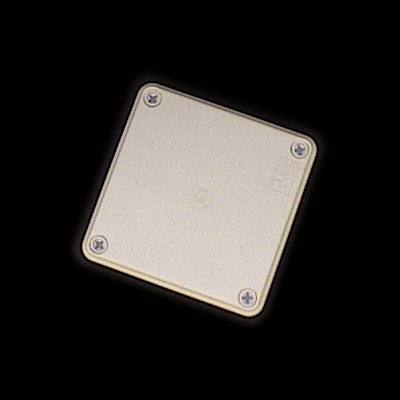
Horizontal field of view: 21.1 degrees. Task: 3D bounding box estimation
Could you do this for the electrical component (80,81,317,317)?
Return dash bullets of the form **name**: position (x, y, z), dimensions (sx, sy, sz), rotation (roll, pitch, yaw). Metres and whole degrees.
- **electrical component**: position (0.000, 0.000, 0.631), dimensions (0.109, 0.109, 0.056), rotation (19, -6, 3)
